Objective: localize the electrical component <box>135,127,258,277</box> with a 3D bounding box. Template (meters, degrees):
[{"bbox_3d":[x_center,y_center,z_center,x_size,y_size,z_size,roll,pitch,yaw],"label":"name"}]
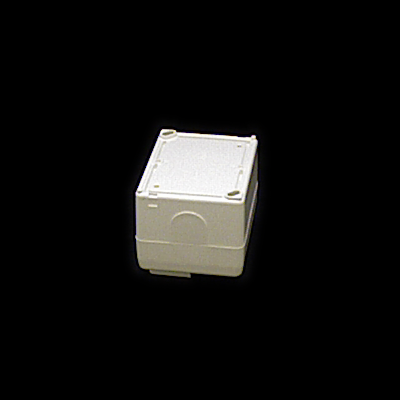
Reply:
[{"bbox_3d":[0.001,0.000,0.641,0.061,0.062,0.095,4,31,7],"label":"electrical component"}]
